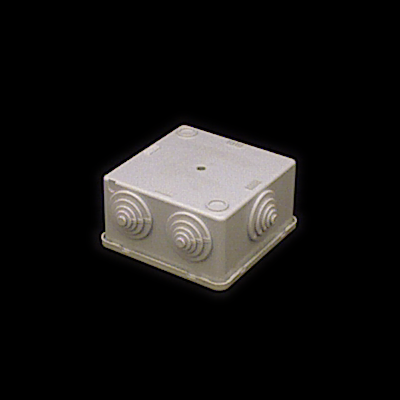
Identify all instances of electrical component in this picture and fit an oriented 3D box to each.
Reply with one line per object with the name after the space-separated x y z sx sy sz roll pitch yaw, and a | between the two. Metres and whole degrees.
0.000 0.000 0.637 0.099 0.049 0.099 20 36 28 | electrical component
